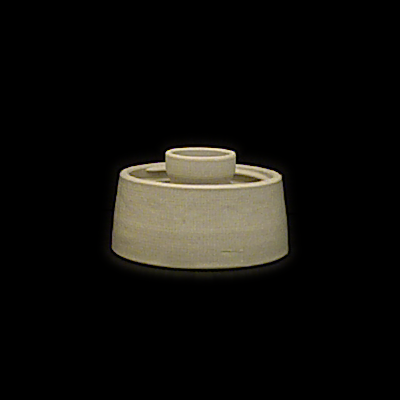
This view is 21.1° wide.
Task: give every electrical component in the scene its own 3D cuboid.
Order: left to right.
[{"bbox_3d":[0.000,0.000,0.652,0.108,0.061,0.107,1,11,0],"label":"electrical component"}]
